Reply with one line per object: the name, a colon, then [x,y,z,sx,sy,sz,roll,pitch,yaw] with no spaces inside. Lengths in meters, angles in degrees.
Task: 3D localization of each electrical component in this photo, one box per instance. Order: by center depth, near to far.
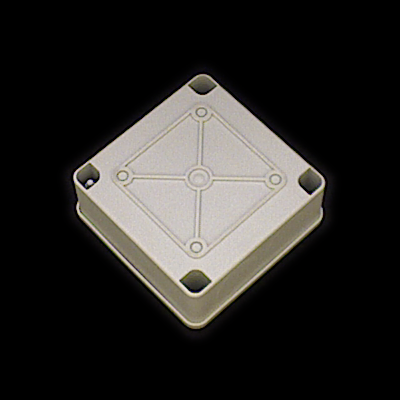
electrical component: [0.000,0.000,0.627,0.109,0.108,0.056,-40,-21,-18]
